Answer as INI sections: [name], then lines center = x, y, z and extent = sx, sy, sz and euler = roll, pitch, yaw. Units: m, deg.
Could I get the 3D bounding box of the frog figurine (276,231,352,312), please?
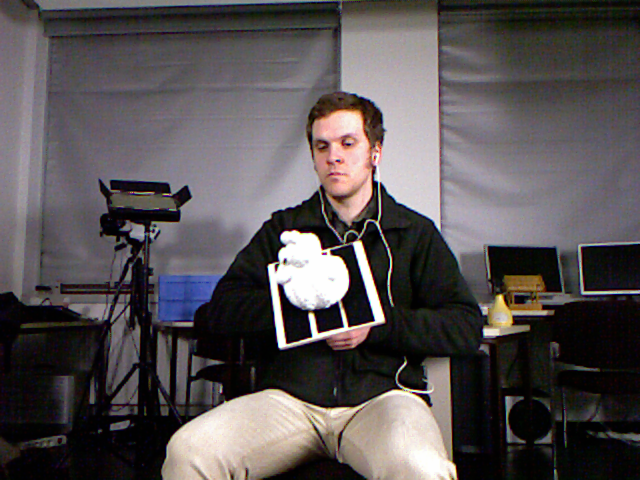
[frog figurine]
center = -0.017, 0.056, 0.953
extent = 0.138, 0.126, 0.156
euler = 2, -35, 19
